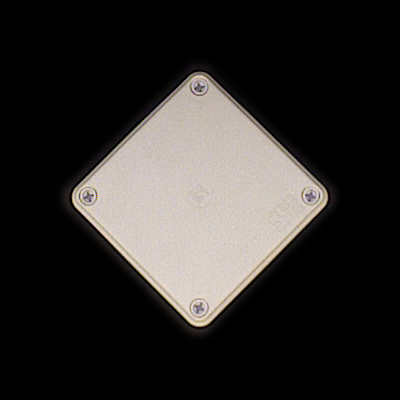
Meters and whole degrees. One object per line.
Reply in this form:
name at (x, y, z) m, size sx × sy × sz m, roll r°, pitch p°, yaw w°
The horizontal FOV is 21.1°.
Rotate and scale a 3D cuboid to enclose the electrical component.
electrical component at (0.000, 0.000, 0.631) m, size 0.109 × 0.109 × 0.056 m, roll 45°, pitch -4°, yaw 5°
